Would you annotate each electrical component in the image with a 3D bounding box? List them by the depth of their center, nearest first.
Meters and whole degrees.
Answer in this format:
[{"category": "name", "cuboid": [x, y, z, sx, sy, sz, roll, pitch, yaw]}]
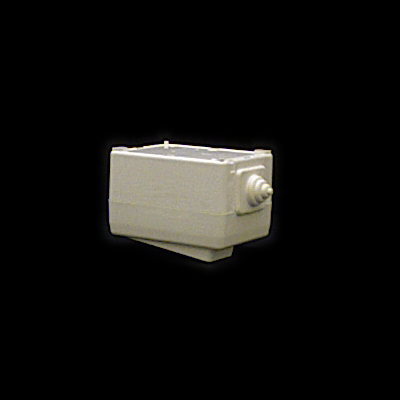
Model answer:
[{"category": "electrical component", "cuboid": [0.000, 0.000, 0.642, 0.096, 0.061, 0.061, 7, 11, 31]}]
